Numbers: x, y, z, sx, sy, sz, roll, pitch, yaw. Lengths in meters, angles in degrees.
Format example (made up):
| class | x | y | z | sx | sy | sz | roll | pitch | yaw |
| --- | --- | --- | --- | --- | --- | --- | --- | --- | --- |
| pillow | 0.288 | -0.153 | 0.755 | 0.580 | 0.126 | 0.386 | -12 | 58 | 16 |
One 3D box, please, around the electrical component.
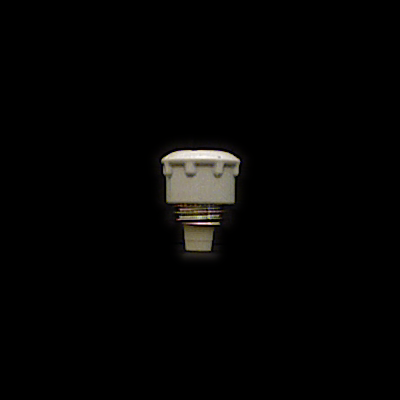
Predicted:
| class | x | y | z | sx | sy | sz | roll | pitch | yaw |
| --- | --- | --- | --- | --- | --- | --- | --- | --- | --- |
| electrical component | 0.000 | 0.000 | 0.656 | 0.048 | 0.062 | 0.048 | 1 | 2 | 0 |
